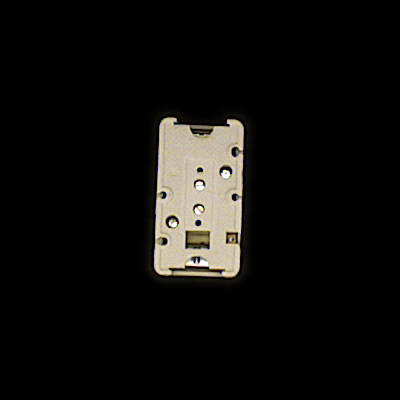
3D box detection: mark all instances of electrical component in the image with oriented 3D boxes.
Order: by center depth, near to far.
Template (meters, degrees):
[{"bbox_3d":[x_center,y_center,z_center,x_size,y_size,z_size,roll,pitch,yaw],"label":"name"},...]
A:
[{"bbox_3d":[0.000,0.000,0.637,0.050,0.090,0.055,2,-6,0],"label":"electrical component"}]
